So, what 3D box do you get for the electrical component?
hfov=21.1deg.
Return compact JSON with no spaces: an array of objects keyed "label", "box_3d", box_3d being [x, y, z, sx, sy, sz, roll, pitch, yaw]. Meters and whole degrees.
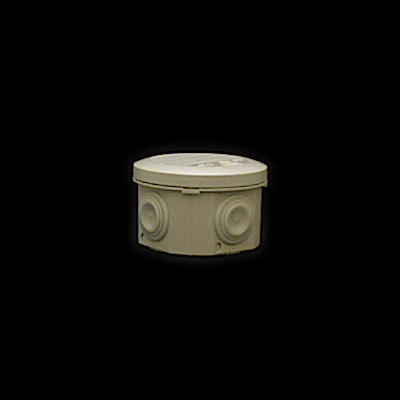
[{"label":"electrical component","box_3d":[0.000,0.000,0.643,0.080,0.051,0.079,1,10,0]}]
